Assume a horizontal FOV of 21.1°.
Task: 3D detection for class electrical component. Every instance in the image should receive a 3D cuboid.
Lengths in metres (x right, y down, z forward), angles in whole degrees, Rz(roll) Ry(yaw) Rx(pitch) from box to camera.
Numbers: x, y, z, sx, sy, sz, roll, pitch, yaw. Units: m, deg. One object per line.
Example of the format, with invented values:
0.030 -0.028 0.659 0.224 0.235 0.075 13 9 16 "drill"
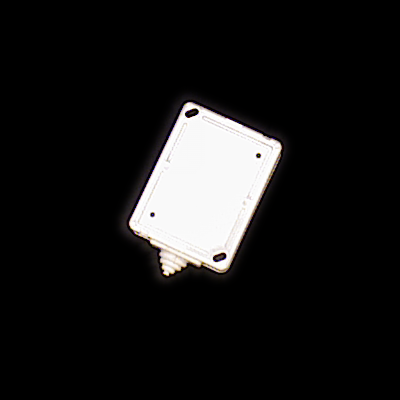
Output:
0.000 0.000 0.629 0.062 0.096 0.061 25 -5 3 "electrical component"
